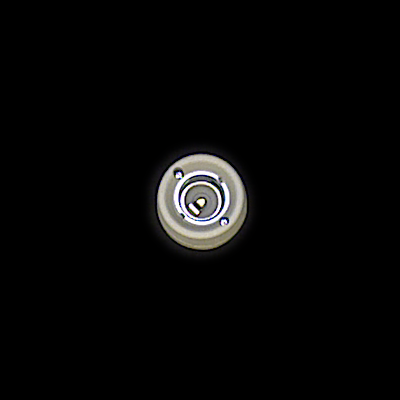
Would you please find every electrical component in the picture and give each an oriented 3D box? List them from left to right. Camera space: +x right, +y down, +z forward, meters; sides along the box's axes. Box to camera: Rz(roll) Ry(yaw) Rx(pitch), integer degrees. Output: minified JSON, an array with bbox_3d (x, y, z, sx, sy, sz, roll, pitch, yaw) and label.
[{"bbox_3d":[0.000,0.000,0.634,0.055,0.055,0.047,0,-8,1],"label":"electrical component"}]
